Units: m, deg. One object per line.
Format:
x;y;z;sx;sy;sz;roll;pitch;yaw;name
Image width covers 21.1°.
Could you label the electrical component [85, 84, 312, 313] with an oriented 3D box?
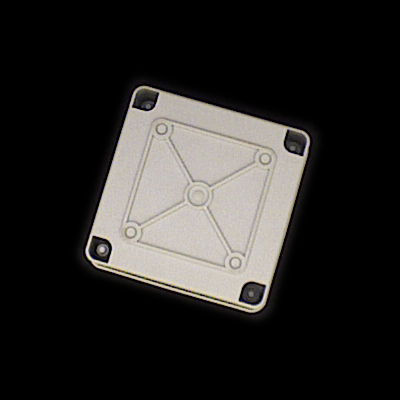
0.000;0.000;0.628;0.109;0.109;0.056;16;-6;2;electrical component
